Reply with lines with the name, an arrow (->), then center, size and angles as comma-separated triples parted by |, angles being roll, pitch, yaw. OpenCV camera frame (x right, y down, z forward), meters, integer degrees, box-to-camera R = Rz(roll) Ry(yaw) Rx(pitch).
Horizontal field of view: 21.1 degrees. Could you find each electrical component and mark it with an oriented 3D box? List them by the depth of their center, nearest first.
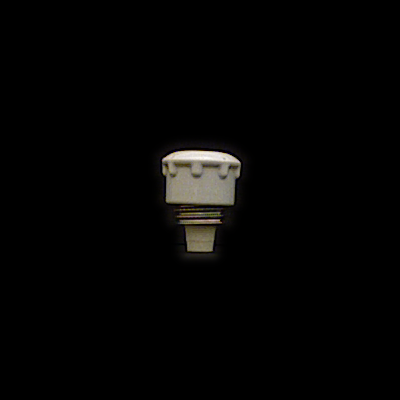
electrical component -> 0.000, 0.000, 0.657 | 0.048, 0.062, 0.048 | 2, 2, 1
